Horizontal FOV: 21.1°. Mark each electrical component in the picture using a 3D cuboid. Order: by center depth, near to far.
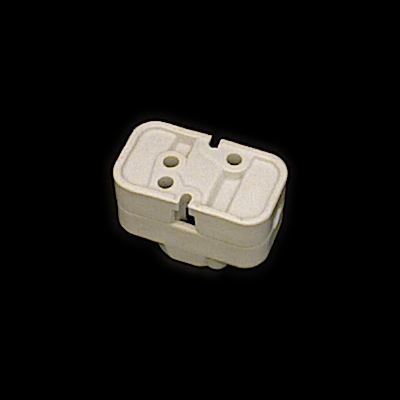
[{"bbox_3d":[0.000,0.000,0.634,0.095,0.054,0.059,17,-35,12],"label":"electrical component"}]
